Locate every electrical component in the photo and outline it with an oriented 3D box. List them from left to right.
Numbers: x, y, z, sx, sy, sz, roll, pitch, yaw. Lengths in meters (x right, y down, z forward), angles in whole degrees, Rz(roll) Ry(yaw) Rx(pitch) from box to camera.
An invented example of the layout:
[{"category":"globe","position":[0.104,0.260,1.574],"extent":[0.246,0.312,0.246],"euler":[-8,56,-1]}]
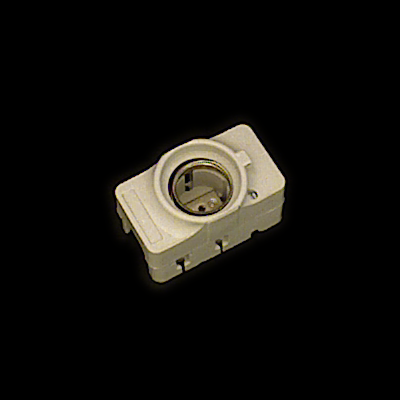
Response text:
[{"category":"electrical component","position":[0.000,0.000,0.635],"extent":[0.090,0.050,0.055],"euler":[-28,-23,-13]}]
